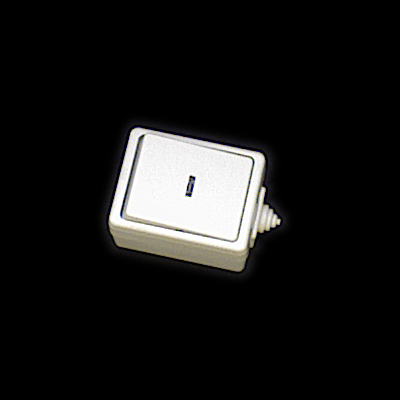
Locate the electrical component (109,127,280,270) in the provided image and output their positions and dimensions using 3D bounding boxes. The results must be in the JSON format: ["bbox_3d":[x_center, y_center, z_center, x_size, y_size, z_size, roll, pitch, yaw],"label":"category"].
[{"bbox_3d":[0.000,0.000,0.625,0.096,0.062,0.060,12,-16,3],"label":"electrical component"}]
